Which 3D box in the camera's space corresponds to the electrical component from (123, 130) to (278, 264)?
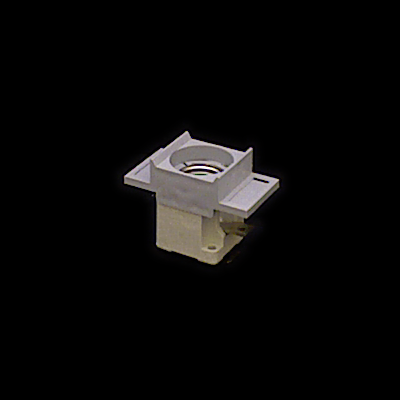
[{"bbox_3d":[0.000,0.000,0.632,0.080,0.064,0.042,17,34,25],"label":"electrical component"}]
